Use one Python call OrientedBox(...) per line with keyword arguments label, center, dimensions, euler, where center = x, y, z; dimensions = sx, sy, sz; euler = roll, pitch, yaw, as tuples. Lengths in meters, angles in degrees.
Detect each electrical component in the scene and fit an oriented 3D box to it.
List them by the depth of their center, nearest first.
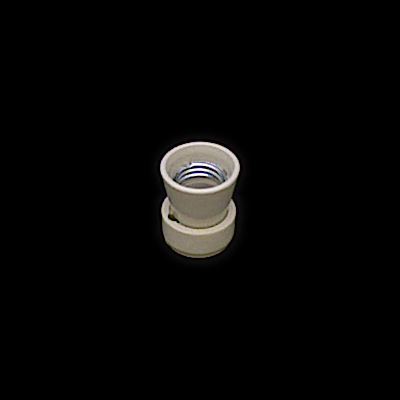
OrientedBox(label="electrical component", center=(0.000, 0.000, 0.632), dimensions=(0.045, 0.055, 0.044), euler=(1, 43, 0))
